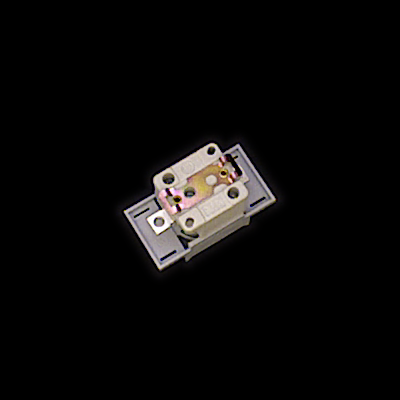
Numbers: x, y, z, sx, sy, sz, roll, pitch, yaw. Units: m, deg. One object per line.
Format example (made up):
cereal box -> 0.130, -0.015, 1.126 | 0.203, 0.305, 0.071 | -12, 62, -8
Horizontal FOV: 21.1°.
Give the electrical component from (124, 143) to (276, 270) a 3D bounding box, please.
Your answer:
electrical component -> 0.000, 0.000, 0.625 | 0.081, 0.042, 0.063 | -31, -14, -9
